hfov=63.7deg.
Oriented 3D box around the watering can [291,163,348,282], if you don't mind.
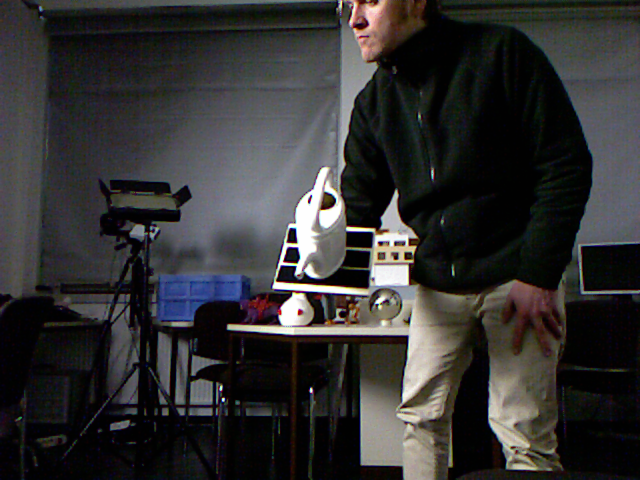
[{"bbox_3d":[-0.006,0.000,1.038,0.104,0.219,0.356,6,45,10],"label":"watering can"}]
